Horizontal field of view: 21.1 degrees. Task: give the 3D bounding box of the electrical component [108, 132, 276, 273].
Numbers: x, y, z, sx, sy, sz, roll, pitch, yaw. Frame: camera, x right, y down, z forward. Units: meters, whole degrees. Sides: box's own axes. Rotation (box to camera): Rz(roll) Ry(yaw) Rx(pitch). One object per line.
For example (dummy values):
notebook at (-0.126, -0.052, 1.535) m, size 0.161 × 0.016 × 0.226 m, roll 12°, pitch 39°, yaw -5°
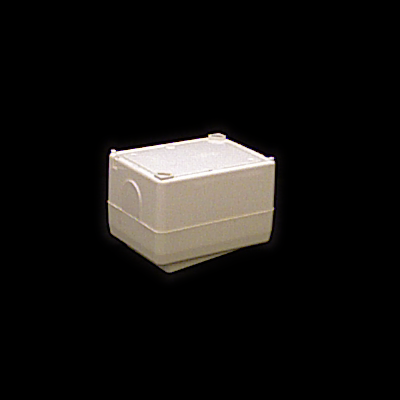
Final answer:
electrical component at (0.000, 0.000, 0.638) m, size 0.096 × 0.061 × 0.061 m, roll -11°, pitch 24°, yaw -31°
